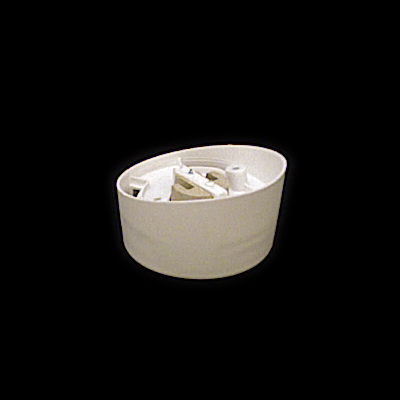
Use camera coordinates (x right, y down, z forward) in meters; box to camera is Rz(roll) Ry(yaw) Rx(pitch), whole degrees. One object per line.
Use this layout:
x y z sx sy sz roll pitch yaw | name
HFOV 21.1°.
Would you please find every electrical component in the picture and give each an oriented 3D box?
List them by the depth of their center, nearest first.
0.000 0.000 0.633 0.099 0.065 0.097 2 31 -1 | electrical component
